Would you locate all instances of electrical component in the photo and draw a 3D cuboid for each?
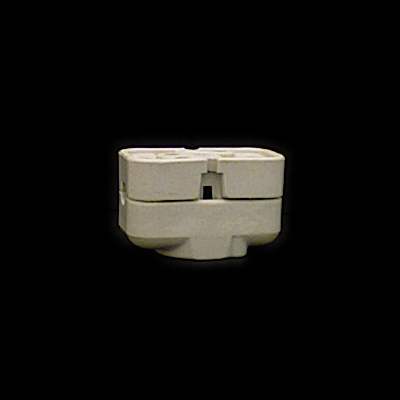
[{"bbox_3d":[0.000,0.000,0.649,0.095,0.060,0.053,-1,12,-15],"label":"electrical component"}]
